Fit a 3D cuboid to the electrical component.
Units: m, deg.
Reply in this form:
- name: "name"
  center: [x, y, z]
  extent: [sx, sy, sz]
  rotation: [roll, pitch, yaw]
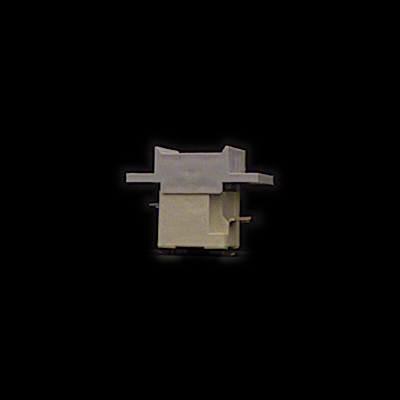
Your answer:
- name: "electrical component"
  center: [0.000, 0.000, 0.649]
  extent: [0.081, 0.063, 0.042]
  rotation: [1, 0, 17]
